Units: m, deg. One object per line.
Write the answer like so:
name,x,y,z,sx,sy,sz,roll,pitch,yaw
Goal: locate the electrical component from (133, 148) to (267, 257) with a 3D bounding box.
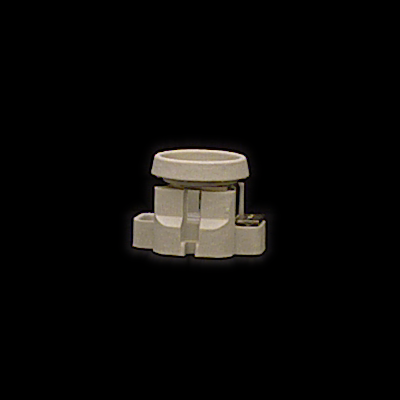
electrical component,0.000,0.000,0.645,0.078,0.057,0.057,3,11,12
